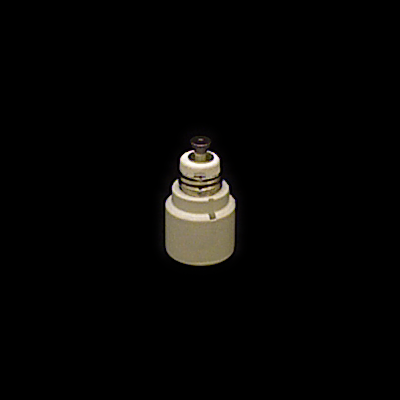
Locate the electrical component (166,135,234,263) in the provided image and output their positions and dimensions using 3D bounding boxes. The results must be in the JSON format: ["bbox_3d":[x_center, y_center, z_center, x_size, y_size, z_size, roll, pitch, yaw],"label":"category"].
[{"bbox_3d":[0.000,0.000,0.628,0.040,0.079,0.039,0,30,0],"label":"electrical component"}]
